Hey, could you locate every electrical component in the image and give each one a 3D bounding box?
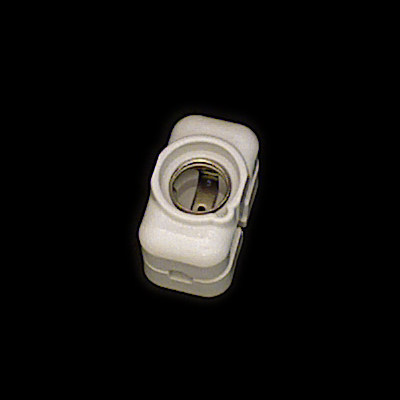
[{"bbox_3d":[0.000,0.000,0.633,0.053,0.095,0.059,13,-25,7],"label":"electrical component"}]
